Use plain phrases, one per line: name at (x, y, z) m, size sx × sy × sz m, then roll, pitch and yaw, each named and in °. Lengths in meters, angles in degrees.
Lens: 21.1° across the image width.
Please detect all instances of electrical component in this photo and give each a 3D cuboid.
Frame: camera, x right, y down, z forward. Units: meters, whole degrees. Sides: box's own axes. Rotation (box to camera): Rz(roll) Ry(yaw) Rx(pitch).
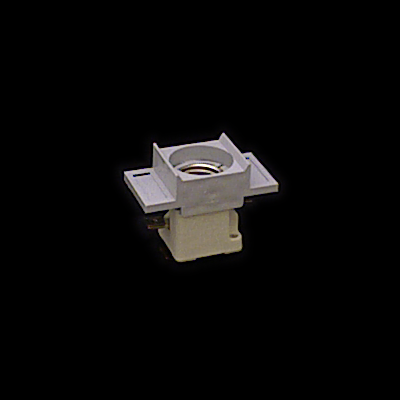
electrical component at (0.000, 0.000, 0.631) m, size 0.081 × 0.064 × 0.041 m, roll -9°, pitch 34°, yaw -18°
